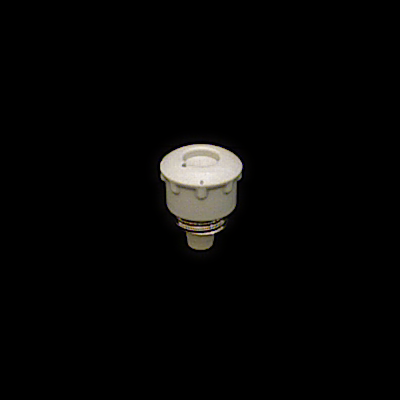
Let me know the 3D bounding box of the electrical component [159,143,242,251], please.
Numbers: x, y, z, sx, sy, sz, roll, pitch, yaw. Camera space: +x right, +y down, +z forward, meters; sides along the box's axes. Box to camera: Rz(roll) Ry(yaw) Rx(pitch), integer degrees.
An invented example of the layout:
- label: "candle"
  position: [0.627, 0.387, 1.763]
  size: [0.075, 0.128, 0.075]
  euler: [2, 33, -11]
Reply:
- label: "electrical component"
  position: [0.000, 0.000, 0.639]
  size: [0.048, 0.063, 0.047]
  euler: [1, 32, 0]
